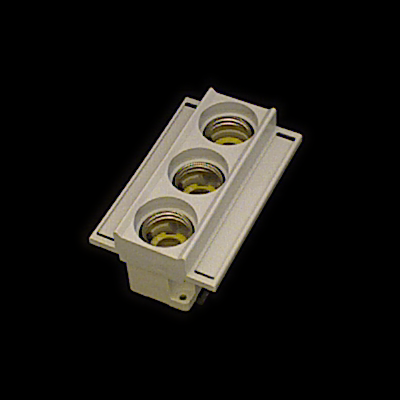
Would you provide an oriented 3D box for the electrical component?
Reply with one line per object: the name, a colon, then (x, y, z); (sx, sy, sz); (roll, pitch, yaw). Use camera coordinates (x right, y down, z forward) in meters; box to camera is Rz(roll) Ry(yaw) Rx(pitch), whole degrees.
electrical component: (0.000, 0.000, 0.639); (0.078, 0.121, 0.063); (21, -34, 17)
